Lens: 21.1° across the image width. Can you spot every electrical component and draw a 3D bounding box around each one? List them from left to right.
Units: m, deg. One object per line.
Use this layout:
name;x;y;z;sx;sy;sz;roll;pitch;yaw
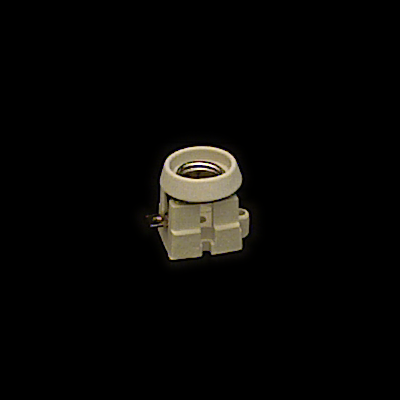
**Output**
electrical component;0.000;0.000;0.642;0.067;0.056;0.047;-9;31;-15
